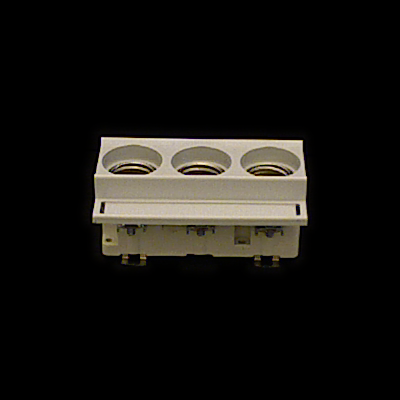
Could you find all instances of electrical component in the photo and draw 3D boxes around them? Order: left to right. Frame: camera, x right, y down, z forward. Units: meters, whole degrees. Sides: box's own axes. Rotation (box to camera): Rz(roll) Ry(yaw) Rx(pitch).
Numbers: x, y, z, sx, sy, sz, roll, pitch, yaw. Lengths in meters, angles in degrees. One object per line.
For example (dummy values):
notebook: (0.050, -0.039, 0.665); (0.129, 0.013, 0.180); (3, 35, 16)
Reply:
electrical component: (0.000, 0.000, 0.645); (0.121, 0.064, 0.077); (1, 33, 1)
